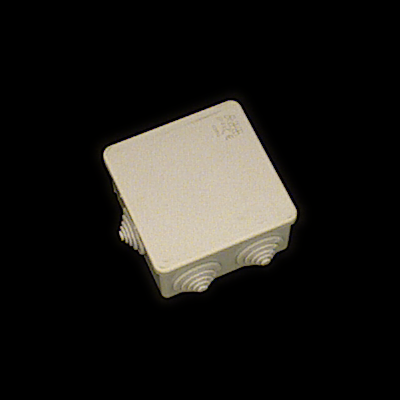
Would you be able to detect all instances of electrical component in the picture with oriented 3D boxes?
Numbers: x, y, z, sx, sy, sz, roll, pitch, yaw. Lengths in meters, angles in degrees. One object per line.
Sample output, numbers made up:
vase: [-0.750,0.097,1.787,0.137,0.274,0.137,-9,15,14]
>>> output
electrical component: [0.000,0.000,0.640,0.100,0.099,0.048,-22,-24,-11]
